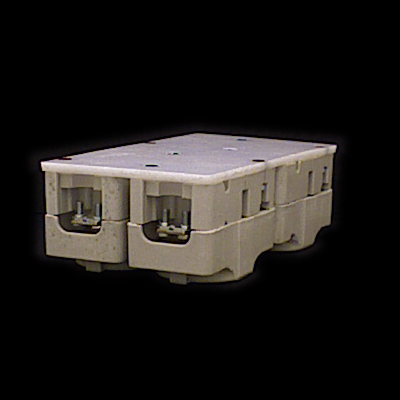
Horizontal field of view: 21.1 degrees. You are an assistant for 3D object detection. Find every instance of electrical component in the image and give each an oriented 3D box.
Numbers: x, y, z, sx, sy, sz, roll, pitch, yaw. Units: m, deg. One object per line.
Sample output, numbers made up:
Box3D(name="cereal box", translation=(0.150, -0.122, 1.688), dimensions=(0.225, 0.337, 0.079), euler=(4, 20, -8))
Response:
Box3D(name="electrical component", translation=(0.000, 0.000, 0.644), dimensions=(0.105, 0.060, 0.185), euler=(7, 11, 27))
